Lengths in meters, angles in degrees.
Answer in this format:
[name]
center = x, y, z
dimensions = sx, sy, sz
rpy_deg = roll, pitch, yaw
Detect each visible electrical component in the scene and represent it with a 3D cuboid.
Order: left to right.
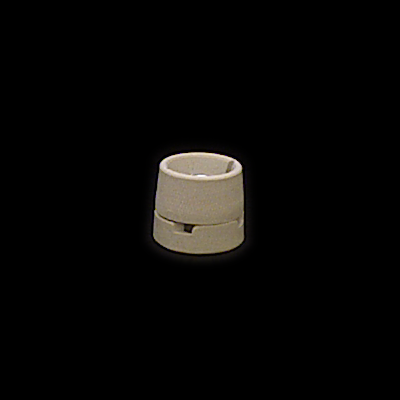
[electrical component]
center = 0.000, 0.000, 0.642
dimensions = 0.055, 0.047, 0.055
rpy_deg = 2, 21, -1
